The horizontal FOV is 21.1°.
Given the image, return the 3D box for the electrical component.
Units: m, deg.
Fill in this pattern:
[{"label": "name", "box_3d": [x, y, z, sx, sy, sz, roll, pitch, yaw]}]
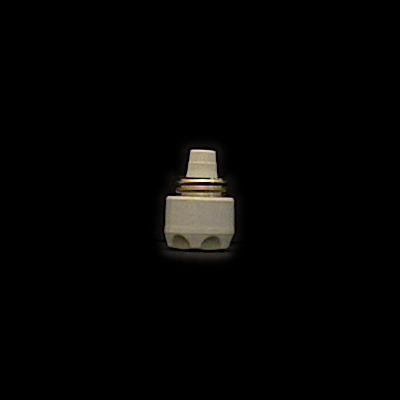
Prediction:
[{"label": "electrical component", "box_3d": [0.000, 0.000, 0.656, 0.043, 0.062, 0.043, 3, 2, 0]}]
